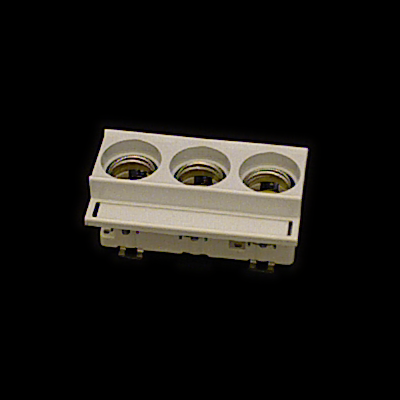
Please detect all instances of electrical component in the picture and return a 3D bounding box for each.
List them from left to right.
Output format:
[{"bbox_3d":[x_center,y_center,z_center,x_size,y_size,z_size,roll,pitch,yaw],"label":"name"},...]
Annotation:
[{"bbox_3d":[0.000,0.000,0.641,0.121,0.063,0.078,6,44,6],"label":"electrical component"}]
